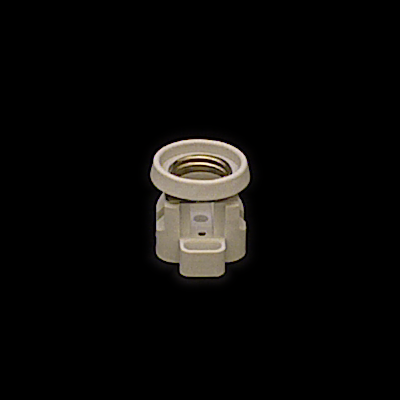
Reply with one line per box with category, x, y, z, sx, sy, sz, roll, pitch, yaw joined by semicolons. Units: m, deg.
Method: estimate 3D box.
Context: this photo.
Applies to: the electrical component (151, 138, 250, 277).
electrical component;0.000;0.000;0.636;0.058;0.057;0.077;-1;31;-3
